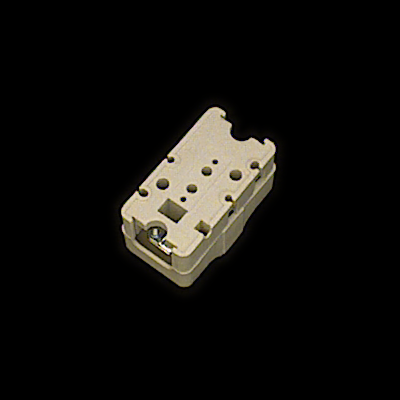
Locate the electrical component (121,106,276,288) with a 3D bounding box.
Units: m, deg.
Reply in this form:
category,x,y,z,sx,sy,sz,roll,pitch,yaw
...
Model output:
category,x,y,z,sx,sy,sz,roll,pitch,yaw
electrical component,0.000,0.000,0.636,0.050,0.090,0.055,34,-21,15
